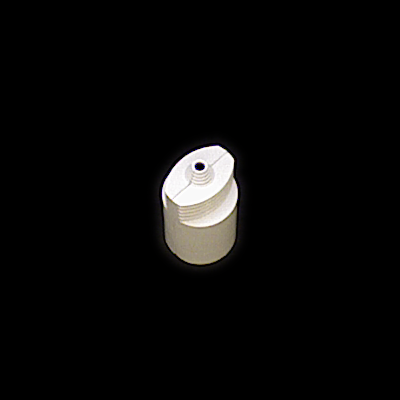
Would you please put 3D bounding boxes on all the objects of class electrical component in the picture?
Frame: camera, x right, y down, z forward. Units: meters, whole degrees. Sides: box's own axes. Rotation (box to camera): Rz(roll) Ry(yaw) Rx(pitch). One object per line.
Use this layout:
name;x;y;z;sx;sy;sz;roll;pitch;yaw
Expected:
electrical component;0.000;0.000;0.617;0.043;0.043;0.081;0;-27;0
